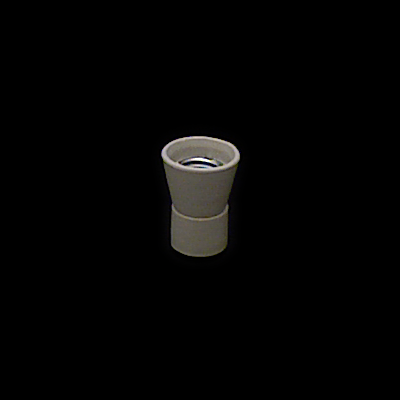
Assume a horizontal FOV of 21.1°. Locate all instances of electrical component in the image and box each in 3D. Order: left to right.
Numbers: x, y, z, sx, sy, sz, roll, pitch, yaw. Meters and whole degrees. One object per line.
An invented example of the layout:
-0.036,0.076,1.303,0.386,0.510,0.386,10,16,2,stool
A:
0.000,0.000,0.635,0.044,0.066,0.044,1,30,0,electrical component
